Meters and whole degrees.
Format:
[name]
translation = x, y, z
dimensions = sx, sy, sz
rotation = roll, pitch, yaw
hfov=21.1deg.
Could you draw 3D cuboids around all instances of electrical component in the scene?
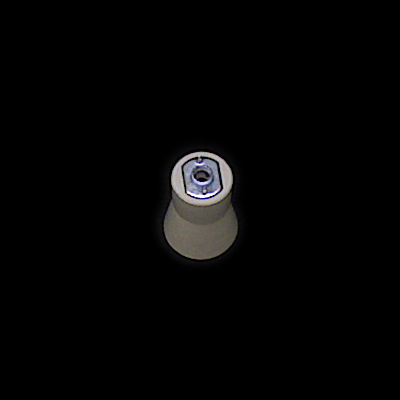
[electrical component]
translation = 0.000, 0.000, 0.624
dimensions = 0.044, 0.044, 0.065
rotation = 0, -28, -1
